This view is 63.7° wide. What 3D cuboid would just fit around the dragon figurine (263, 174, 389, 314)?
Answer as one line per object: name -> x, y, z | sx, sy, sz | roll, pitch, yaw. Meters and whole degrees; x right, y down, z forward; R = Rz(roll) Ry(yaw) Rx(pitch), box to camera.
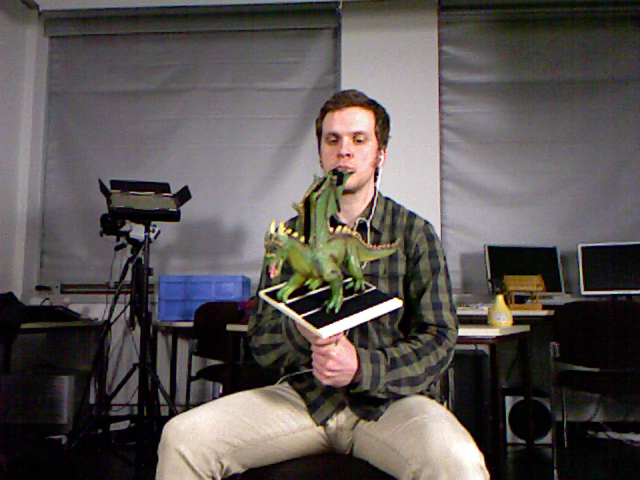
dragon figurine -> 0.027, -0.008, 0.984 | 0.123, 0.239, 0.417 | 18, 30, 31
